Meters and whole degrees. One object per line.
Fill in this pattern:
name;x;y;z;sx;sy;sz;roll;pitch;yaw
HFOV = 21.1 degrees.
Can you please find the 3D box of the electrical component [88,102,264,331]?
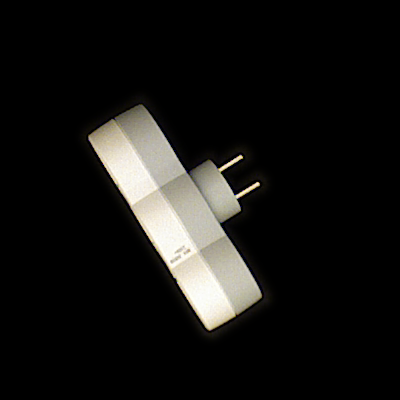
electrical component;0.000;0.000;0.639;0.074;0.138;0.052;-32;-5;-4
